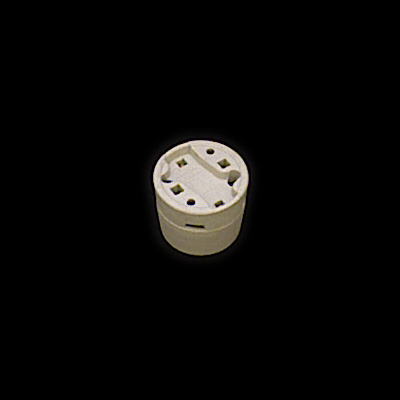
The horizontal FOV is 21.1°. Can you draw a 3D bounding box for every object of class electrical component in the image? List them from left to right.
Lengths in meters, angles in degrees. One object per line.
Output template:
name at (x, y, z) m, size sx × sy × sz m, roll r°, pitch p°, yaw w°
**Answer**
electrical component at (0.000, 0.000, 0.635) m, size 0.055 × 0.055 × 0.047 m, roll 0°, pitch -38°, yaw -1°
